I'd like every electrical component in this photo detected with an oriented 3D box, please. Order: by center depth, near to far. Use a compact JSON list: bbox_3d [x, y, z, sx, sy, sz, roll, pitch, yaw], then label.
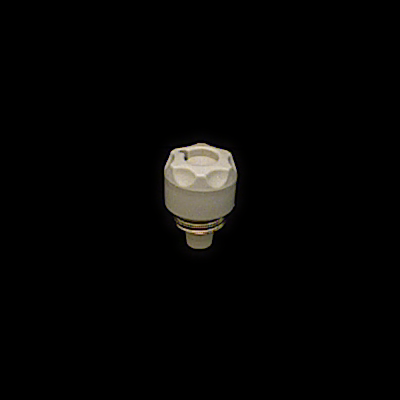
[{"bbox_3d":[0.000,0.000,0.642,0.043,0.063,0.043,2,32,0],"label":"electrical component"}]
